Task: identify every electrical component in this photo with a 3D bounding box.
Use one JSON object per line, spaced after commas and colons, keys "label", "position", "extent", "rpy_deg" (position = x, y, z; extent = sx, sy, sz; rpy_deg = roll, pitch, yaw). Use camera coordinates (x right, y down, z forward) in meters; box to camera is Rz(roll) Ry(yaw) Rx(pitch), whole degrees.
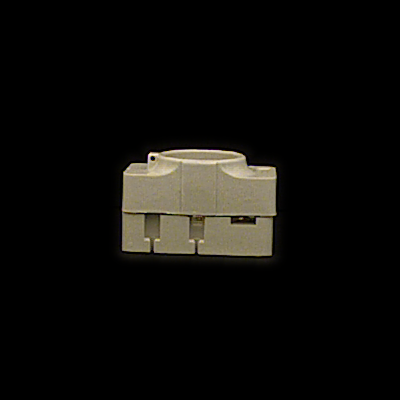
{"label": "electrical component", "position": [0.000, 0.000, 0.652], "extent": [0.089, 0.056, 0.050], "rpy_deg": [2, 12, 1]}
